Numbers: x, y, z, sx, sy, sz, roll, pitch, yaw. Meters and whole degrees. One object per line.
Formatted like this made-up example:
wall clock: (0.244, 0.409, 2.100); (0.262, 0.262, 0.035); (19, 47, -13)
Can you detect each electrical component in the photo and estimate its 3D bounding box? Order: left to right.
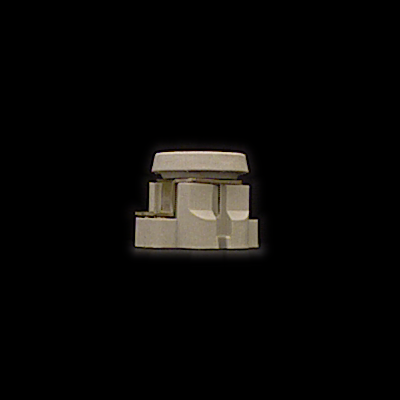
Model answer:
electrical component: (0.000, 0.000, 0.648); (0.079, 0.057, 0.057); (1, 1, -35)
